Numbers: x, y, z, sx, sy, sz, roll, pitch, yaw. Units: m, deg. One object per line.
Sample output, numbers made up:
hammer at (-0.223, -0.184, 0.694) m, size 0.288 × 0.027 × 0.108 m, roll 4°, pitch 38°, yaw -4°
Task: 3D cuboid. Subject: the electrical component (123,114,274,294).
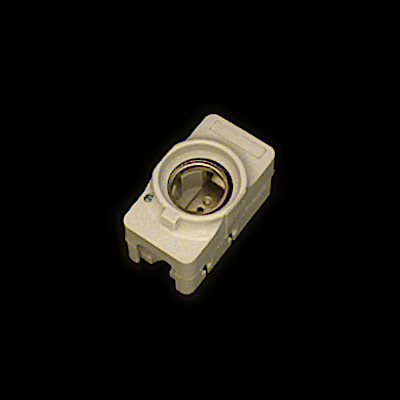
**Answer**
electrical component at (0.000, 0.000, 0.636) m, size 0.050 × 0.090 × 0.055 m, roll 32°, pitch -22°, yaw 15°
